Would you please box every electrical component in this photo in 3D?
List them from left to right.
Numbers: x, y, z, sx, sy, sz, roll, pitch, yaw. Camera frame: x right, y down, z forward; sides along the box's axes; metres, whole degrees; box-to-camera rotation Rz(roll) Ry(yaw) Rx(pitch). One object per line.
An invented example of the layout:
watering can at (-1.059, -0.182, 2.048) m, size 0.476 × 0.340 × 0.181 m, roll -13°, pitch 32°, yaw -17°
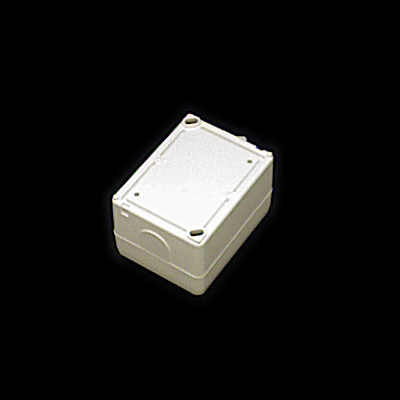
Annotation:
electrical component at (0.000, 0.000, 0.633) m, size 0.061 × 0.096 × 0.061 m, roll 27°, pitch -33°, yaw 20°
